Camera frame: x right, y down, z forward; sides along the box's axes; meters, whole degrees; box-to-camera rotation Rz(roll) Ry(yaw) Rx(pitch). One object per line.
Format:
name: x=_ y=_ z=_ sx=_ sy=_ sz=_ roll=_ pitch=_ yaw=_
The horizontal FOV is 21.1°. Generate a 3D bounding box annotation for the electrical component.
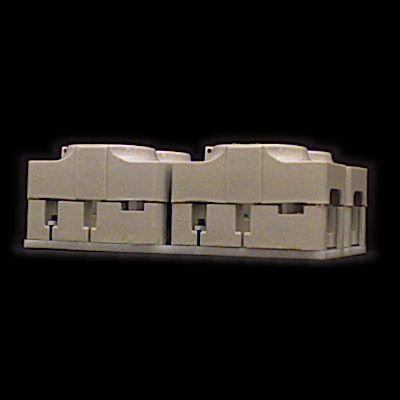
electrical component: x=0.000 y=0.000 z=0.649 sx=0.186 sy=0.060 sz=0.106 roll=1 pitch=0 yaw=22
